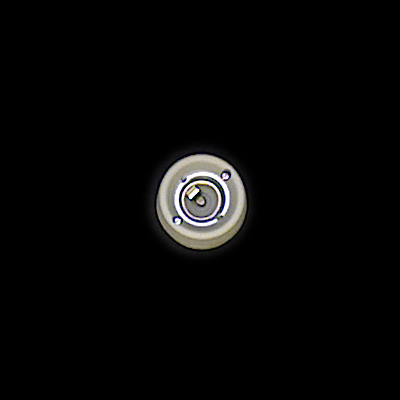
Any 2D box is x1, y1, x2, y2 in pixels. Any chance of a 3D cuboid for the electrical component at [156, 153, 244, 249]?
[{"bbox_3d":[0.000,0.000,0.634,0.055,0.055,0.047,0,-7,0],"label":"electrical component"}]
